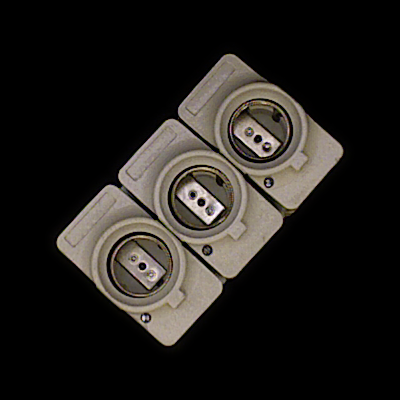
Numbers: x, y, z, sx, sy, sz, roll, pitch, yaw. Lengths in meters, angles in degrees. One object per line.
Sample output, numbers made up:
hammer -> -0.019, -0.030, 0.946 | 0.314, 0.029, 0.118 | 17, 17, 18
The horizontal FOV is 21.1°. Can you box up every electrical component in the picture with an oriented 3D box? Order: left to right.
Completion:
electrical component -> 0.000, 0.000, 0.632 | 0.089, 0.150, 0.061 | 42, -4, 3
